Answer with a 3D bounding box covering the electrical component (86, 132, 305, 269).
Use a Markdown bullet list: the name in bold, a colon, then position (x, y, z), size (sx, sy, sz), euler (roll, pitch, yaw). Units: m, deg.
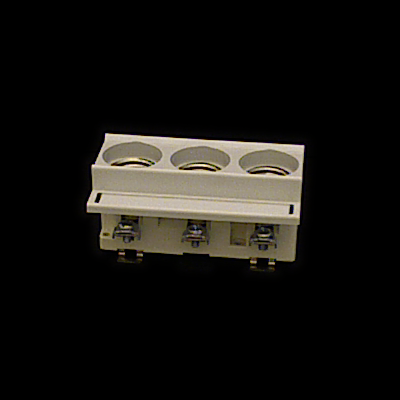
- **electrical component**: position (0.000, 0.000, 0.647), size (0.121, 0.064, 0.077), euler (4, 31, 5)
